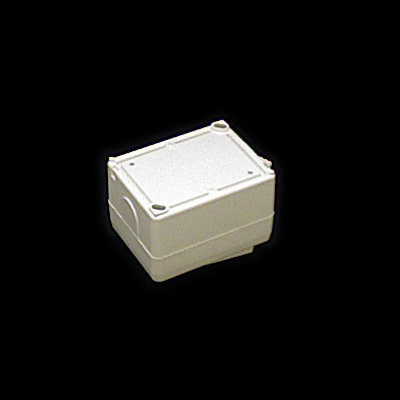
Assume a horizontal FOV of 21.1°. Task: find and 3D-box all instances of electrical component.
[{"bbox_3d":[0.000,0.000,0.635,0.096,0.061,0.061,-20,45,-22],"label":"electrical component"}]
